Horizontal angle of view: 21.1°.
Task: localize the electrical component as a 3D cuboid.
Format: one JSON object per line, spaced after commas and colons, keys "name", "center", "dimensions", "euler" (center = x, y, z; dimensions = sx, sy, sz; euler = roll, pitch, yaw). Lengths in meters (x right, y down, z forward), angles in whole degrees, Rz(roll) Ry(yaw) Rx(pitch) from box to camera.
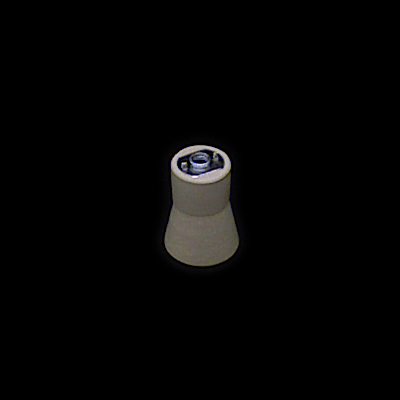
{"name": "electrical component", "center": [0.000, 0.000, 0.631], "dimensions": [0.044, 0.066, 0.044], "euler": [0, 41, 0]}
